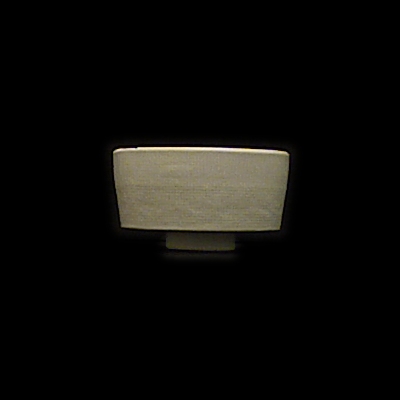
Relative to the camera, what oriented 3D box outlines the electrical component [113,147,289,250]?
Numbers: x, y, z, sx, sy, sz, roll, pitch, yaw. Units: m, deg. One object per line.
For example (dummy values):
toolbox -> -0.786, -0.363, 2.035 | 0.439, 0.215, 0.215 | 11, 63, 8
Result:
electrical component -> 0.000, 0.000, 0.660 | 0.108, 0.060, 0.108 | 1, 1, 1
